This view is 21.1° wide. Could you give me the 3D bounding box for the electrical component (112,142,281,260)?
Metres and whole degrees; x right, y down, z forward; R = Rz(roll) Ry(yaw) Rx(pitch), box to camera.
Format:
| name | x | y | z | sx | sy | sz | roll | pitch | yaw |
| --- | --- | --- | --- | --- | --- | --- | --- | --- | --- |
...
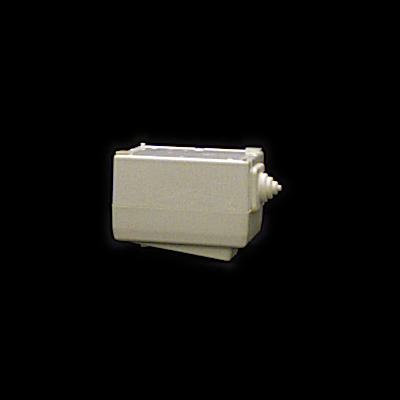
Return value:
| name | x | y | z | sx | sy | sz | roll | pitch | yaw |
| --- | --- | --- | --- | --- | --- | --- | --- | --- | --- |
| electrical component | 0.000 | 0.000 | 0.645 | 0.096 | 0.061 | 0.061 | 3 | 10 | 12 |
